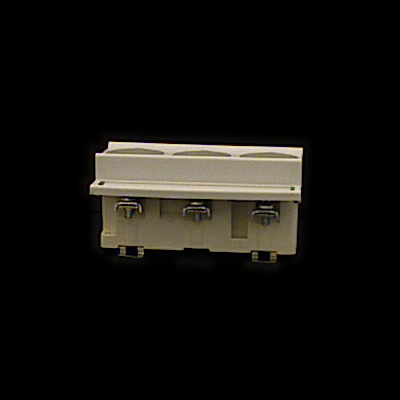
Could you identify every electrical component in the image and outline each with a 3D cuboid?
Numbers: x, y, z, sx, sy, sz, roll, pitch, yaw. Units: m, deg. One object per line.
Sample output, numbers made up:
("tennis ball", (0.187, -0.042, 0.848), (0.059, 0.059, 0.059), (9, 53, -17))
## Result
("electrical component", (0.000, 0.000, 0.655), (0.121, 0.063, 0.078), (2, 13, 6))
